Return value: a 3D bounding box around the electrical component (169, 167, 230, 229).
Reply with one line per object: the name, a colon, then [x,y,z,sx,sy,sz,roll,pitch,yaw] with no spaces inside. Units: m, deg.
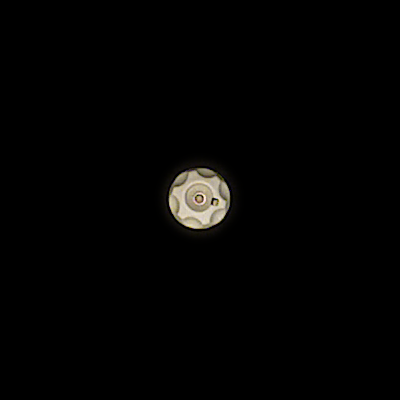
electrical component: [0.000,0.000,0.634,0.035,0.035,0.061,0,-5,1]
